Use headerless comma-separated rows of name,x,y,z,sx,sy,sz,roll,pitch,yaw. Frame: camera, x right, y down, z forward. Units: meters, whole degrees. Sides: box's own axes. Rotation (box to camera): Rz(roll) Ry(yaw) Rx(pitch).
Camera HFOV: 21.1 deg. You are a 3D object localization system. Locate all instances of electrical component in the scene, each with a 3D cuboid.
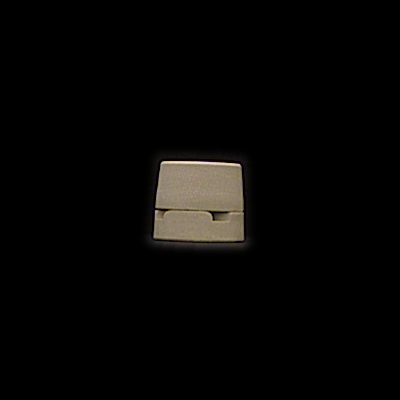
electrical component,0.000,0.000,0.649,0.055,0.047,0.055,2,1,0
